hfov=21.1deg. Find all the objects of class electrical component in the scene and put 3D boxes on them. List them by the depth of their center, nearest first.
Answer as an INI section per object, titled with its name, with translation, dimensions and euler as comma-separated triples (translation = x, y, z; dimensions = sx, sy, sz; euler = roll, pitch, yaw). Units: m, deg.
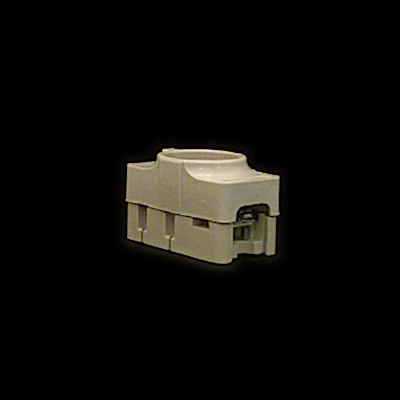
[electrical component]
translation = 0.000, 0.000, 0.652
dimensions = 0.050, 0.056, 0.088
euler = -10, 16, -43
